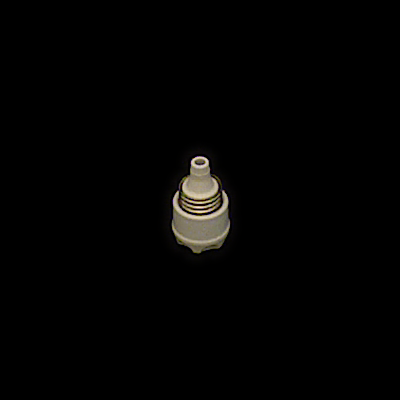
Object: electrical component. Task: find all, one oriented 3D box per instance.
[{"bbox_3d":[0.000,0.000,0.641,0.035,0.062,0.035,0,41,0],"label":"electrical component"}]
